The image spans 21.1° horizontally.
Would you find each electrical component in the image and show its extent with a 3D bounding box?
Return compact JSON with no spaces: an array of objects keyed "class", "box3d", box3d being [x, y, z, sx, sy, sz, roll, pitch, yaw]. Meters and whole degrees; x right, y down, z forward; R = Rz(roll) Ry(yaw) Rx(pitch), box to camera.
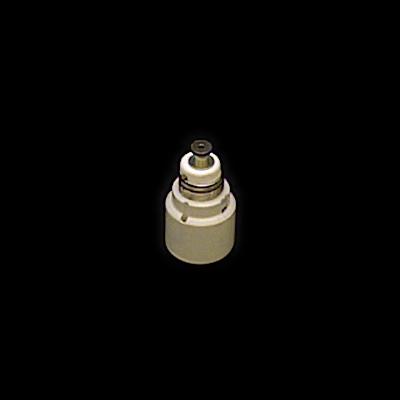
[{"class":"electrical component","box3d":[0.000,0.000,0.623,0.040,0.079,0.039,1,41,0]}]
